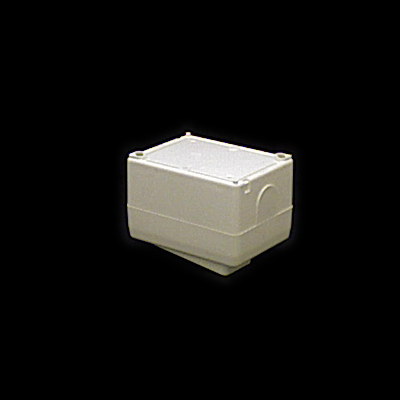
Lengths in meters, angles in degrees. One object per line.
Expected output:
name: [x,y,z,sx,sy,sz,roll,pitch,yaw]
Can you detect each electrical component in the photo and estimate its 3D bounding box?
electrical component: [0.000,0.000,0.641,0.095,0.062,0.061,15,26,33]
